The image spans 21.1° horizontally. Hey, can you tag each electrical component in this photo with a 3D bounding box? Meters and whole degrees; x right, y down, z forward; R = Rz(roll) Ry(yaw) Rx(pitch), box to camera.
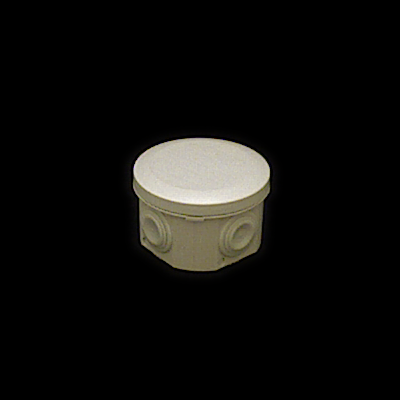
[{"bbox_3d":[0.000,0.000,0.635,0.080,0.051,0.079,1,31,0],"label":"electrical component"}]
